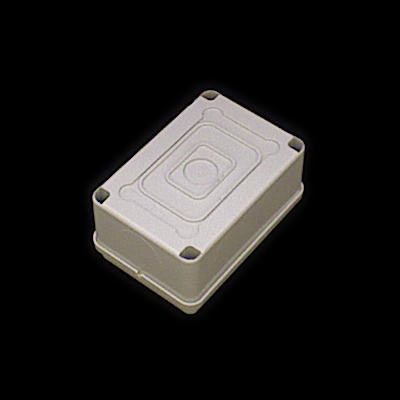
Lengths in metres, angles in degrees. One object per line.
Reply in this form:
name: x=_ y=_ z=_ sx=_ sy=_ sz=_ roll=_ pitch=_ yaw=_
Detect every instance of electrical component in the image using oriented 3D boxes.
electrical component: x=0.000 y=0.000 z=0.629 sx=0.078 sy=0.113 sz=0.057 roll=32 pitch=-31 yaw=22
